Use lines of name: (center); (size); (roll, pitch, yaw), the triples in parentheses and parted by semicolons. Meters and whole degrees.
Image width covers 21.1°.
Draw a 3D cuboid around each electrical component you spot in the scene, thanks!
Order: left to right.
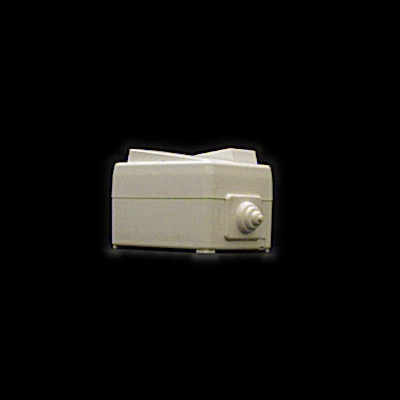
electrical component: (0.000, 0.000, 0.648); (0.096, 0.061, 0.062); (1, 0, 42)
